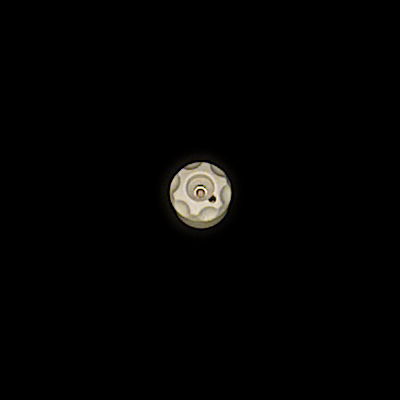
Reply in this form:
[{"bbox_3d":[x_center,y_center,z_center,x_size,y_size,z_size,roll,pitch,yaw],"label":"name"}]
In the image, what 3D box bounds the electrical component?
[{"bbox_3d":[0.000,0.000,0.633,0.035,0.035,0.061,0,-15,1],"label":"electrical component"}]
